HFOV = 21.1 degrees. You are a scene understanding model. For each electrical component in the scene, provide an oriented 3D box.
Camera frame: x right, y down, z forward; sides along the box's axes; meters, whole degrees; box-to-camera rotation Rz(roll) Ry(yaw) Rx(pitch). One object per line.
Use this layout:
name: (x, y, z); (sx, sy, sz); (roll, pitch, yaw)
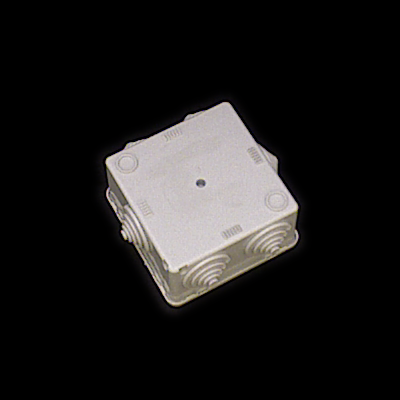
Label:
electrical component: (0.000, 0.000, 0.631); (0.100, 0.099, 0.048); (-26, -24, -13)
